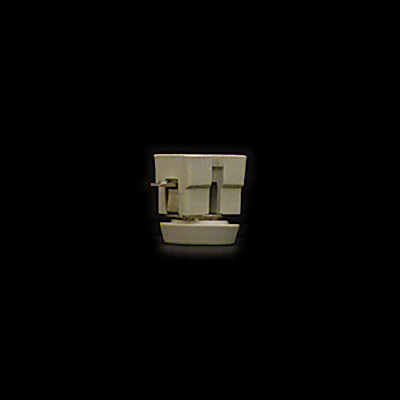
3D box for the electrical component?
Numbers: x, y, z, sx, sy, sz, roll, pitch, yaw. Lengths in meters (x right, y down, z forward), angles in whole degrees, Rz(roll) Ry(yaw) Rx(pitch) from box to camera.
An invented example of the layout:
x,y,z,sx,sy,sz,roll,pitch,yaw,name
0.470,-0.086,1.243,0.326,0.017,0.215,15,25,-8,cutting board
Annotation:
x,y,z,sx,sy,sz,roll,pitch,yaw,name
0.000,0.000,0.658,0.067,0.055,0.048,-1,4,-36,electrical component
